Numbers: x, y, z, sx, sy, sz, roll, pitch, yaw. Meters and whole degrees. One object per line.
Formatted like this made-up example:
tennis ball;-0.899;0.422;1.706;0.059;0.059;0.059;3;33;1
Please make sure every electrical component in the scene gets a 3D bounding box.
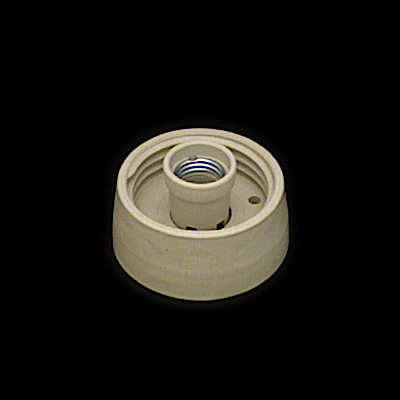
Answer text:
electrical component;0.000;0.000;0.638;0.108;0.061;0.107;1;43;0
